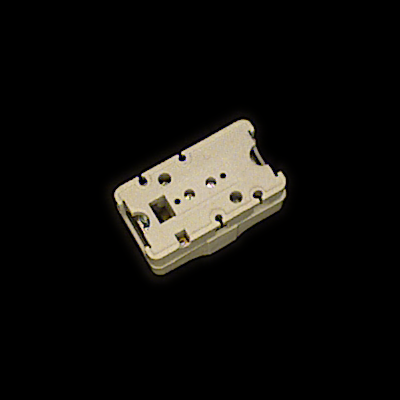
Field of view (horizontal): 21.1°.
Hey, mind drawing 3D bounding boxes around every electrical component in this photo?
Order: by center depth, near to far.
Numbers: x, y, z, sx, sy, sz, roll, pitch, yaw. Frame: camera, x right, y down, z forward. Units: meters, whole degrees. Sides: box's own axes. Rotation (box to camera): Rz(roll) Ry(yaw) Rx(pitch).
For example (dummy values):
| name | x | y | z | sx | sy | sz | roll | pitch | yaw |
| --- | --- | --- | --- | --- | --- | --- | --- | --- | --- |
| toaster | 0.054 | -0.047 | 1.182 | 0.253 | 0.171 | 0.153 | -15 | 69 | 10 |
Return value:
| name | x | y | z | sx | sy | sz | roll | pitch | yaw |
| --- | --- | --- | --- | --- | --- | --- | --- | --- | --- |
| electrical component | 0.000 | 0.000 | 0.636 | 0.090 | 0.050 | 0.055 | -29 | -14 | -7 |
